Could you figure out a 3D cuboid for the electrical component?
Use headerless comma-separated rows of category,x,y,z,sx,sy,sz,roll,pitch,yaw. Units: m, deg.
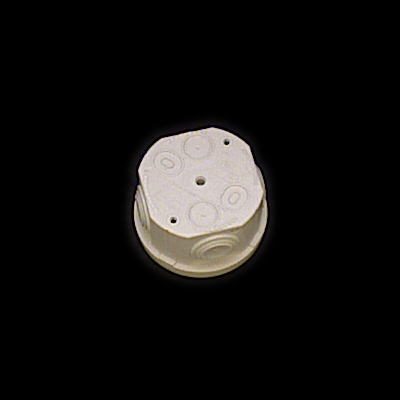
electrical component,0.000,0.000,0.632,0.080,0.080,0.050,0,-28,0
